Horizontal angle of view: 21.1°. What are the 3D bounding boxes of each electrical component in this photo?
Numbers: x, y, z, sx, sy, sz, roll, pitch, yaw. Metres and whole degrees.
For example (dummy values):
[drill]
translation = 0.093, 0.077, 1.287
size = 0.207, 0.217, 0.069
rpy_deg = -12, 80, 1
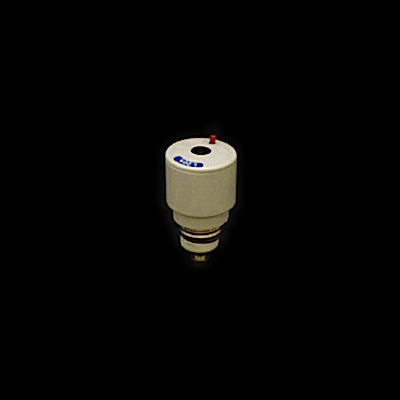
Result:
[electrical component]
translation = 0.000, 0.000, 0.631
size = 0.040, 0.079, 0.039
rpy_deg = 1, 31, 0
